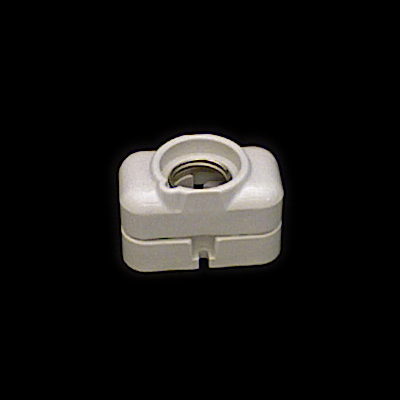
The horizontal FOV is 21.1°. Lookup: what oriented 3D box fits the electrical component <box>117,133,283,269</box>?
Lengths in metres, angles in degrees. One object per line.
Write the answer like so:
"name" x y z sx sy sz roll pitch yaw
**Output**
"electrical component" 0.000 0.000 0.637 0.095 0.060 0.053 -3 42 -4
